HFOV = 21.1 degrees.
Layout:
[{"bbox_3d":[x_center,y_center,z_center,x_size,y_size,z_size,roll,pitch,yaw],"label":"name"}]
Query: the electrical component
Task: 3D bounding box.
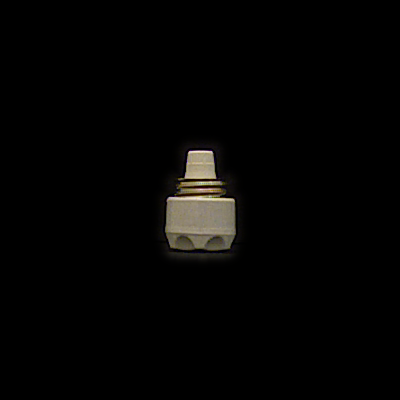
[{"bbox_3d":[0.000,0.000,0.657,0.043,0.062,0.043,0,1,1],"label":"electrical component"}]
